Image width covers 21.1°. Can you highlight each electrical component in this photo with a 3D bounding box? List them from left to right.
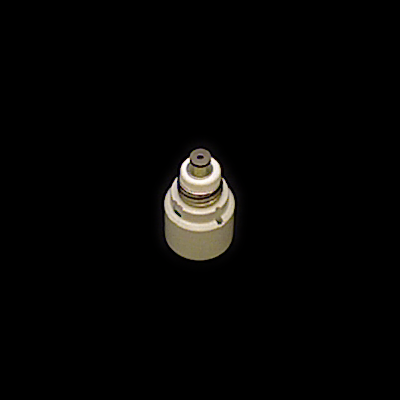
[{"bbox_3d":[0.000,0.000,0.621,0.040,0.040,0.079,0,-37,-2],"label":"electrical component"}]
